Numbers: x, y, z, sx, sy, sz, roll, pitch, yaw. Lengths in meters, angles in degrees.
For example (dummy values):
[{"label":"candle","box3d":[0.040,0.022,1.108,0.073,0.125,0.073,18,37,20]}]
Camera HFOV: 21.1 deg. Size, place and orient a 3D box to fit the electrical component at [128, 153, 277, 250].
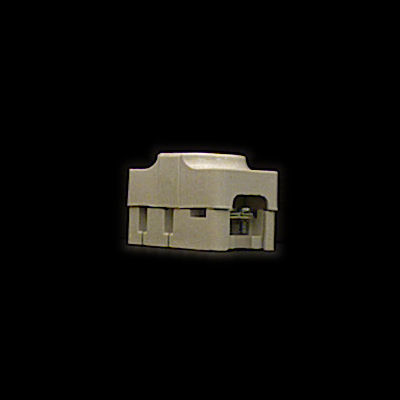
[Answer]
[{"label":"electrical component","box3d":[0.000,0.000,0.657,0.050,0.056,0.088,0,2,-41]}]
